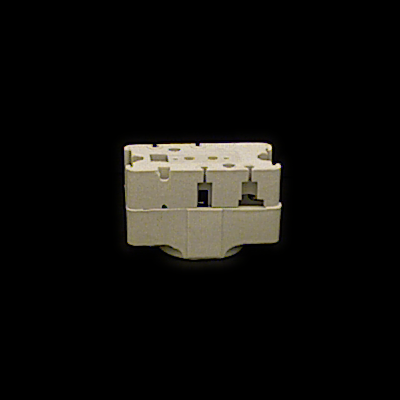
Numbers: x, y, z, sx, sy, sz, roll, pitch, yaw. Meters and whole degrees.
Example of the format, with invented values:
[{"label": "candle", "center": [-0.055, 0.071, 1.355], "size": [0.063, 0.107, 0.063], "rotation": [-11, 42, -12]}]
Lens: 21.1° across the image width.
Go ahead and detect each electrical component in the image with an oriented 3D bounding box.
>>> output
[{"label": "electrical component", "center": [0.000, 0.000, 0.646], "size": [0.090, 0.056, 0.049], "rotation": [-2, 23, -5]}]
